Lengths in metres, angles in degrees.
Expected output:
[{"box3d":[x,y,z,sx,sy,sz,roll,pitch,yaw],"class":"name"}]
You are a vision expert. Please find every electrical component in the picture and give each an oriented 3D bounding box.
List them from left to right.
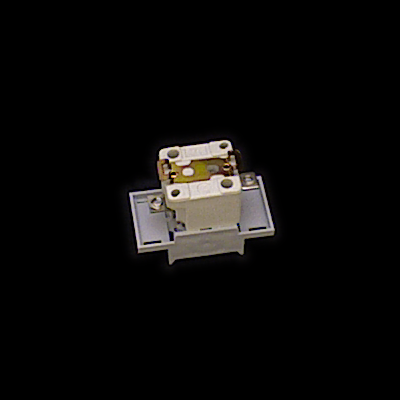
[{"box3d":[0.000,0.000,0.627,0.081,0.042,0.064,-8,-37,-7],"class":"electrical component"}]
